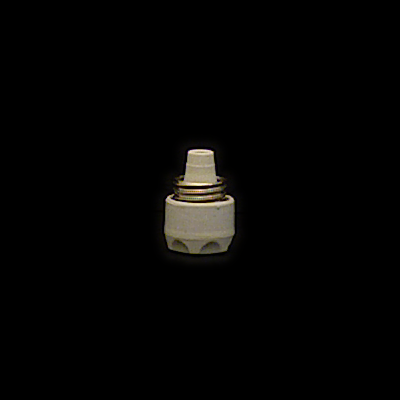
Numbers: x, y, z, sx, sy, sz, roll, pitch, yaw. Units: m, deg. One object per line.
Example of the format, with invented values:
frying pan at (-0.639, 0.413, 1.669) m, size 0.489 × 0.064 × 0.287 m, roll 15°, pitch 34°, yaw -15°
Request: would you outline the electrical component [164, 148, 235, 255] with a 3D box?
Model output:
electrical component at (0.000, 0.000, 0.650) m, size 0.043 × 0.062 × 0.043 m, roll 1°, pitch 13°, yaw 0°
